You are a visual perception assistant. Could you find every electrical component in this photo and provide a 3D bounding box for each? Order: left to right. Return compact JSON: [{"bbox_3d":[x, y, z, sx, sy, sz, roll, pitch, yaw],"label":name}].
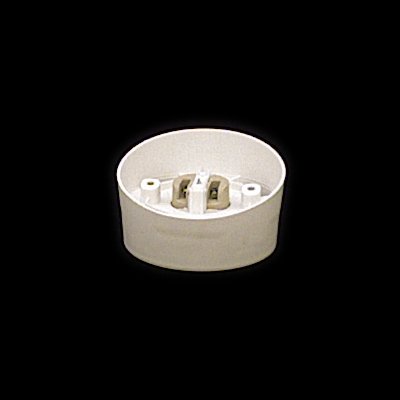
[{"bbox_3d":[0.000,0.000,0.638,0.099,0.065,0.097,1,20,0],"label":"electrical component"}]
